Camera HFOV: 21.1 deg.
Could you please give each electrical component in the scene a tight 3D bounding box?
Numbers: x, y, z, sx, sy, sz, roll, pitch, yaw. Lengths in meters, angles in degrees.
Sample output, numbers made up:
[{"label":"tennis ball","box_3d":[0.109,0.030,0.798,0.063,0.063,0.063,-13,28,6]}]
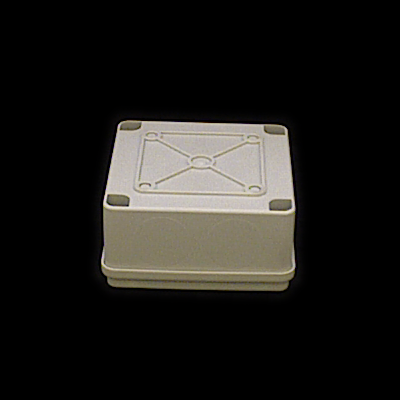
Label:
[{"label":"electrical component","box_3d":[0.000,0.000,0.634,0.109,0.057,0.107,2,32,0]}]
